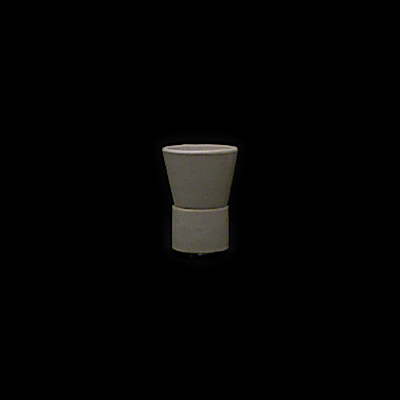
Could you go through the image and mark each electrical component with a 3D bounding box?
[{"bbox_3d":[0.000,0.000,0.644,0.044,0.066,0.044,0,11,0],"label":"electrical component"}]
